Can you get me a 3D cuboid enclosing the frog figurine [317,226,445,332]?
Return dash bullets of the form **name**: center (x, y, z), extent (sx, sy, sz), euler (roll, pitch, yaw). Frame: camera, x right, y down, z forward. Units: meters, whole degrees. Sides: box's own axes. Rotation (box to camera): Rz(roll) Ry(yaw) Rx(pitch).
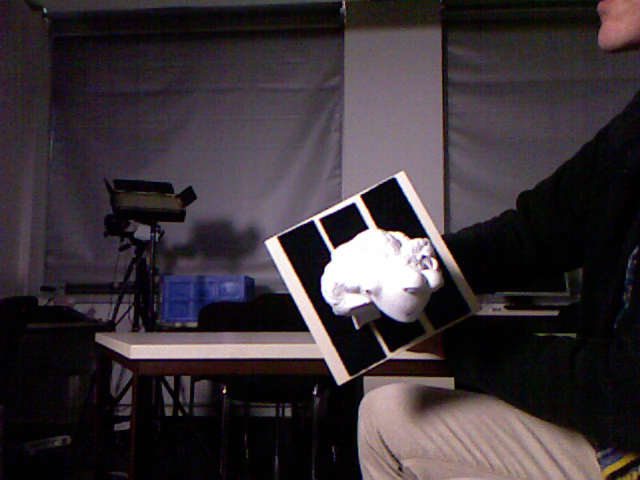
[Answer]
- **frog figurine**: center (0.065, 0.038, 0.575), extent (0.138, 0.124, 0.158), euler (-16, -11, -6)
